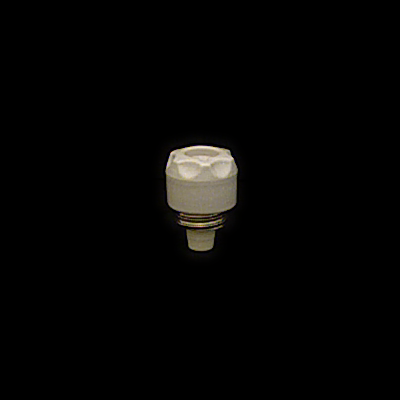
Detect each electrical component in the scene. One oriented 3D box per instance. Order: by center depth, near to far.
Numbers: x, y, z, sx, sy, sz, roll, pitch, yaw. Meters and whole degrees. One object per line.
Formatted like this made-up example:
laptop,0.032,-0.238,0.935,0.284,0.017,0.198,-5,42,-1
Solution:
electrical component,0.000,0.000,0.646,0.043,0.063,0.043,1,21,0
